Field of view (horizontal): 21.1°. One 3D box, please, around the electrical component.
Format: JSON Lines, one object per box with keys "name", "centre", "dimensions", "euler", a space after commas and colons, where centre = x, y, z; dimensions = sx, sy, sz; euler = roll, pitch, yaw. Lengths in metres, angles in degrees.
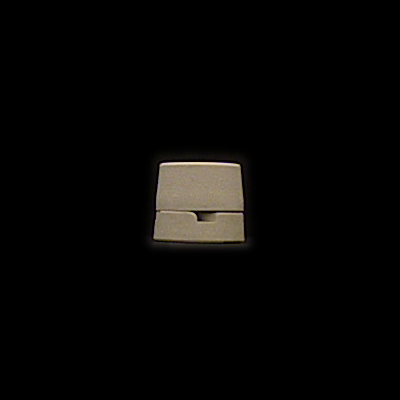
{"name": "electrical component", "centre": [0.000, 0.000, 0.651], "dimensions": [0.055, 0.047, 0.055], "euler": [1, 0, 0]}
